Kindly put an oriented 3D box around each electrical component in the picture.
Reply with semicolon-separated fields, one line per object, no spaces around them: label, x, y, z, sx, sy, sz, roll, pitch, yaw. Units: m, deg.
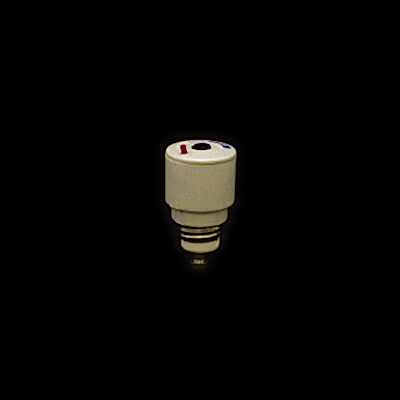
electrical component;0.000;0.000;0.634;0.040;0.079;0.039;1;22;0
